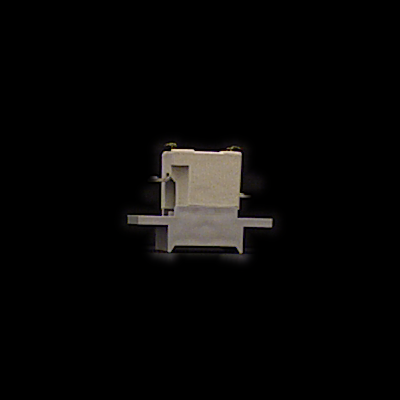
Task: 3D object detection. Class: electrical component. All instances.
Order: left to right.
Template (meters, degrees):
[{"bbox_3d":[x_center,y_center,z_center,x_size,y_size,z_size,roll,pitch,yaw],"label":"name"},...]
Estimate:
[{"bbox_3d":[0.000,0.000,0.650,0.081,0.064,0.042,1,1,-14],"label":"electrical component"}]
